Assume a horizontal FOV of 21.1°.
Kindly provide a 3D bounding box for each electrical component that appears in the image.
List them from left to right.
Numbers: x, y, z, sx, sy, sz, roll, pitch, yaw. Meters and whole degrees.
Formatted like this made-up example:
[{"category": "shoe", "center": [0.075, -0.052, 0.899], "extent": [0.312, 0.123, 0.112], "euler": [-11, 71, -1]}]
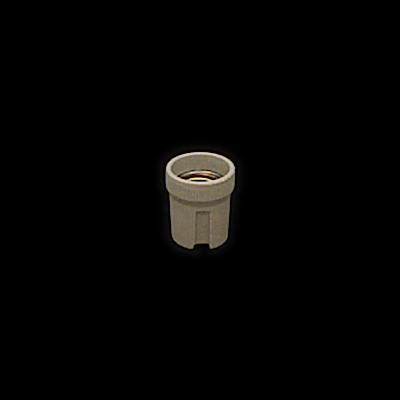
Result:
[{"category": "electrical component", "center": [0.000, 0.000, 0.638], "extent": [0.040, 0.047, 0.039], "euler": [1, 31, 0]}]
